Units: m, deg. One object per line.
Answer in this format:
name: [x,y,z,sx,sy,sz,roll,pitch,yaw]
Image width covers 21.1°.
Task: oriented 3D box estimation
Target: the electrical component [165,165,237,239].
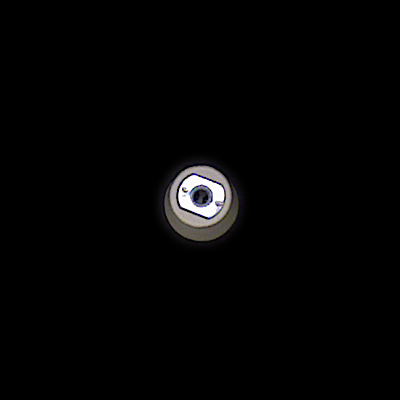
electrical component: [0.000,0.000,0.626,0.044,0.044,0.065,0,-5,1]
